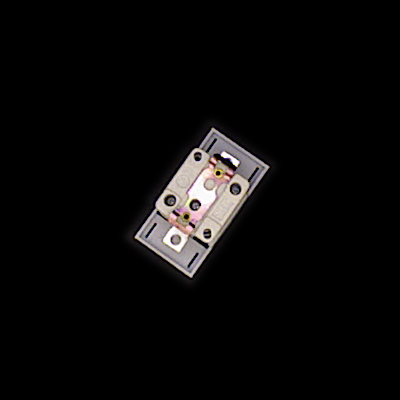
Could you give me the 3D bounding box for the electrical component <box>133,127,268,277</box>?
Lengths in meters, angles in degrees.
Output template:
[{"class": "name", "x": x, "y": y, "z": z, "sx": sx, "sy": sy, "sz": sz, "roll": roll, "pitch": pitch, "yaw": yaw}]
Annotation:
[{"class": "electrical component", "x": 0.000, "y": 0.000, "z": 0.626, "sx": 0.042, "sy": 0.081, "sz": 0.063, "roll": 34, "pitch": -5, "yaw": 4}]
